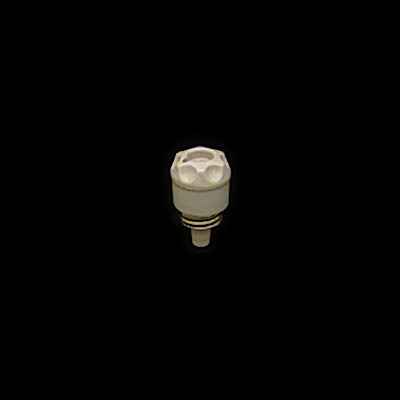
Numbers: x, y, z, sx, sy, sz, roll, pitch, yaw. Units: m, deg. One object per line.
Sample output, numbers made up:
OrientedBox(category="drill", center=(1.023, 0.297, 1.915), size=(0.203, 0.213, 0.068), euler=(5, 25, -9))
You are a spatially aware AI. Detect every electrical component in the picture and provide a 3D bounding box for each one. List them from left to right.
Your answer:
OrientedBox(category="electrical component", center=(0.000, 0.000, 0.641), size=(0.035, 0.062, 0.035), euler=(0, 32, 0))
